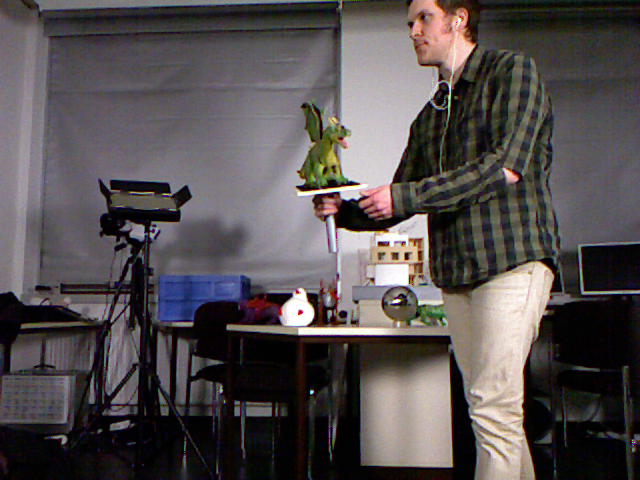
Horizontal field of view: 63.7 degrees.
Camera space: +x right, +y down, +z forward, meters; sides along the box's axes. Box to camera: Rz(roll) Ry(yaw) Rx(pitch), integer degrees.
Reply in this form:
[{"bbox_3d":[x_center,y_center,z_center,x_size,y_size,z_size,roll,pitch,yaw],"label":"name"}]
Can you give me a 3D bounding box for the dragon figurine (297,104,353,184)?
[{"bbox_3d":[-0.013,-0.290,1.553,0.123,0.240,0.413,-14,15,-24],"label":"dragon figurine"}]
